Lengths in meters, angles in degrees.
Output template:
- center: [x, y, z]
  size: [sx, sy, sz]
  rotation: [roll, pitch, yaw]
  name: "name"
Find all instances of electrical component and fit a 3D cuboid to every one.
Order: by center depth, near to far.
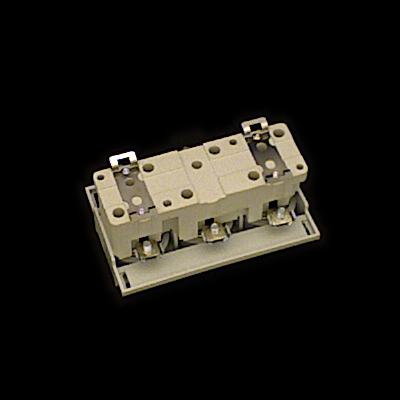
- center: [0.000, 0.000, 0.633]
  size: [0.122, 0.078, 0.063]
  rotation: [-16, -35, -12]
  name: "electrical component"
